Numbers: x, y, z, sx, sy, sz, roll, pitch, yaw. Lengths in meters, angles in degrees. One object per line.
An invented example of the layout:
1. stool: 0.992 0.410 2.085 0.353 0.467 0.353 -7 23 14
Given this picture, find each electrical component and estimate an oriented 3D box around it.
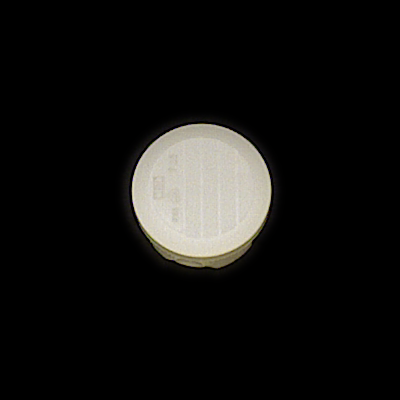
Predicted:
1. electrical component: 0.000 0.000 0.631 0.080 0.080 0.050 0 -17 0
